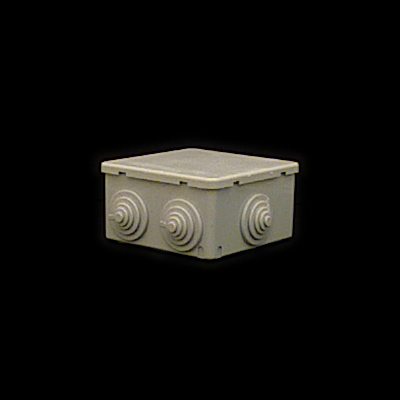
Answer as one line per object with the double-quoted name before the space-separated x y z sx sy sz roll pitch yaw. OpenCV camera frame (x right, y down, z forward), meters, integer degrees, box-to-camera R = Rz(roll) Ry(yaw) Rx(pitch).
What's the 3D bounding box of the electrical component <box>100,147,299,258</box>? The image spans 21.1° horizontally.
"electrical component" 0.000 0.000 0.651 0.098 0.049 0.100 10 14 37
